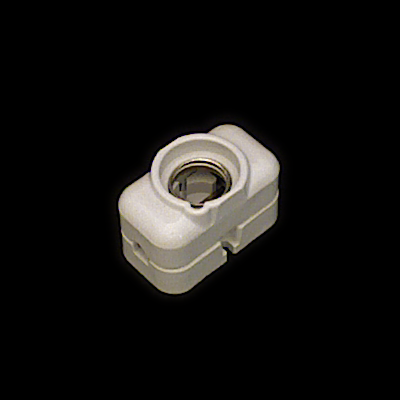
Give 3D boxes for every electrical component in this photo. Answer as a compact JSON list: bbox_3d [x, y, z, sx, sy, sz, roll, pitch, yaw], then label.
[{"bbox_3d":[0.000,0.000,0.634,0.095,0.059,0.053,-37,61,-24],"label":"electrical component"}]
